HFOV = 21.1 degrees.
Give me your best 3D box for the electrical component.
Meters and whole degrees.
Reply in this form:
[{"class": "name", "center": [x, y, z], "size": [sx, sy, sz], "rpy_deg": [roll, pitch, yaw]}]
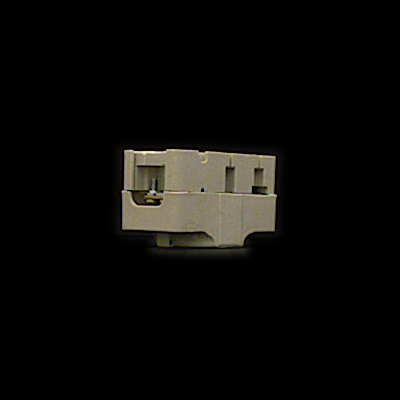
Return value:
[{"class": "electrical component", "center": [0.000, 0.000, 0.656], "size": [0.049, 0.056, 0.090], "rpy_deg": [4, 3, 44]}]
